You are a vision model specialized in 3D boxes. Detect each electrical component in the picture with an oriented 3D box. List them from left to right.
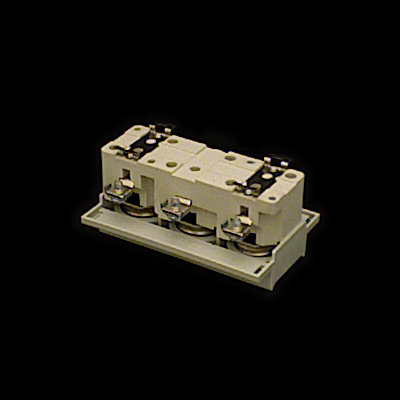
[{"bbox_3d":[0.000,0.000,0.644,0.120,0.064,0.078,18,35,25],"label":"electrical component"}]
